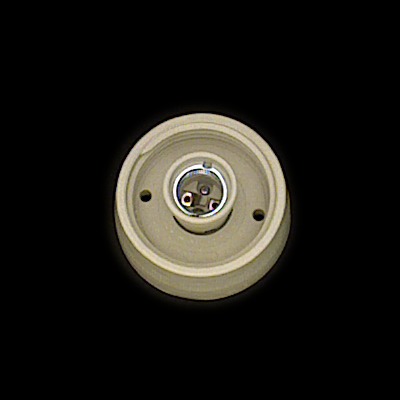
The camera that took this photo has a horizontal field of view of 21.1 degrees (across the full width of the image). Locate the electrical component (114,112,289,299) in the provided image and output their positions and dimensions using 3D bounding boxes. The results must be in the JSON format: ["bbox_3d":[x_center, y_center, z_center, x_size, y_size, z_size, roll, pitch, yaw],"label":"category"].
[{"bbox_3d":[0.000,0.000,0.634,0.108,0.108,0.060,0,-16,0],"label":"electrical component"}]
